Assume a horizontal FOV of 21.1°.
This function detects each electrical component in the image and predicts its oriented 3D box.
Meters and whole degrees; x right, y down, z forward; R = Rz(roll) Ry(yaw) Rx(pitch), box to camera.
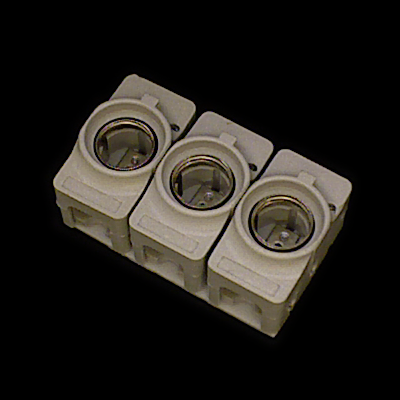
[{"bbox_3d":[0.000,0.000,0.632,0.150,0.089,0.062,27,-25,13],"label":"electrical component"}]
